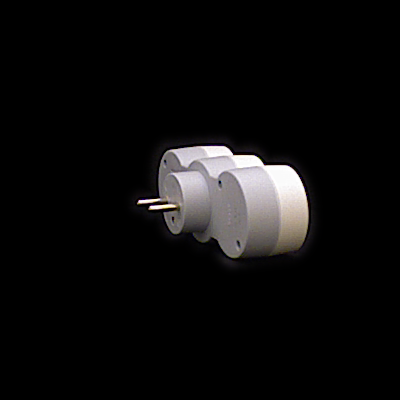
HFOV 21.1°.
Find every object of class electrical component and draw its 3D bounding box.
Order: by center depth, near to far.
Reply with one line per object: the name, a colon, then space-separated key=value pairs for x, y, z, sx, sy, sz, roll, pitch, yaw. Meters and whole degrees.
electrical component: x=0.000 y=0.000 z=0.643 sx=0.074 sy=0.052 sz=0.137 roll=-6 pitch=13 yaw=-23
